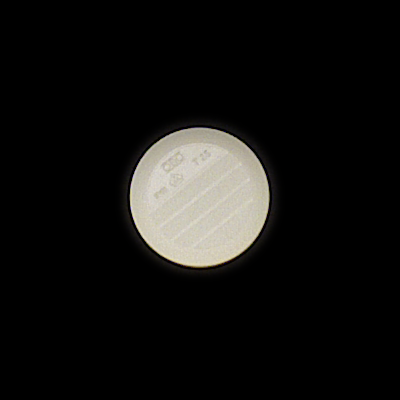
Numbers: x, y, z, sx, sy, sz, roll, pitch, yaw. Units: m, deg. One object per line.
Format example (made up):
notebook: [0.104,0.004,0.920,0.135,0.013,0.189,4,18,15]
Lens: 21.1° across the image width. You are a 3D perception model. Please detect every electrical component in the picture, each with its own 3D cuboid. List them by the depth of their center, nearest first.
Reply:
electrical component: [0.000,0.000,0.631,0.080,0.080,0.050,0,-7,0]
